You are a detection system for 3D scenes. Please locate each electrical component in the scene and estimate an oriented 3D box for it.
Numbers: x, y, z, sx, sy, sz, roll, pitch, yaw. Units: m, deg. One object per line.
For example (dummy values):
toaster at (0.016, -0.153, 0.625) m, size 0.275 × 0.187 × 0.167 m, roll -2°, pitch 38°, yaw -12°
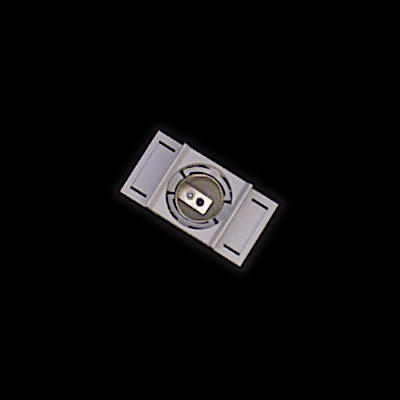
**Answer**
electrical component at (0.000, 0.000, 0.625) m, size 0.081 × 0.042 × 0.063 m, roll 32°, pitch -4°, yaw 3°
